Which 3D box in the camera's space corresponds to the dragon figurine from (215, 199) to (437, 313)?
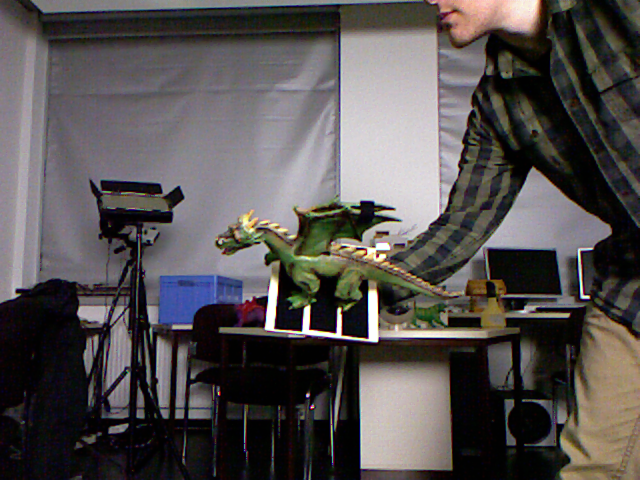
[{"bbox_3d":[0.035,0.020,0.857,0.411,0.125,0.238,3,-30,-10],"label":"dragon figurine"}]
